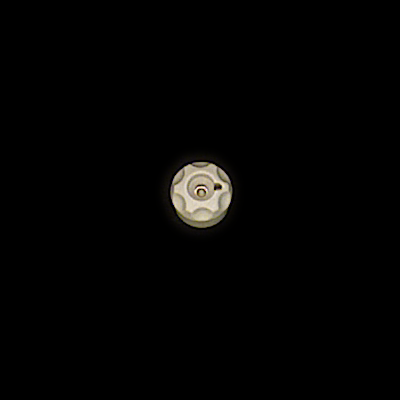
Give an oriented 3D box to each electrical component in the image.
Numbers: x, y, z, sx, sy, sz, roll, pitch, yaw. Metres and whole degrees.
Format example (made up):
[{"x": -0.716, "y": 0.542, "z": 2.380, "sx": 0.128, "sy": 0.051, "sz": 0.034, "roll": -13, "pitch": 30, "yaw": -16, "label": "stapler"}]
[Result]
[{"x": 0.000, "y": 0.000, "z": 0.633, "sx": 0.035, "sy": 0.035, "sz": 0.061, "roll": 0, "pitch": -15, "yaw": 1, "label": "electrical component"}]
